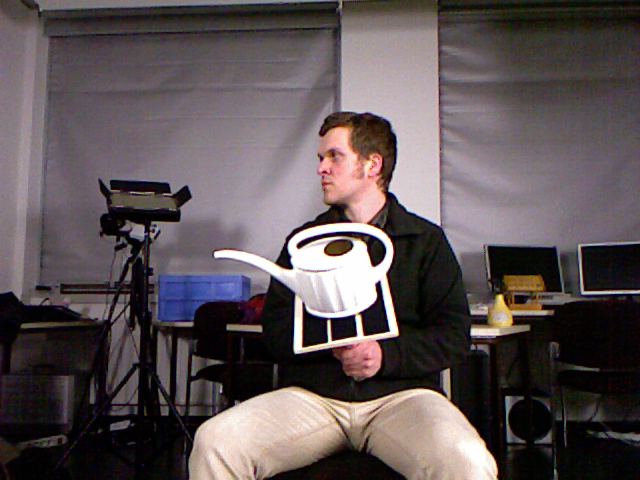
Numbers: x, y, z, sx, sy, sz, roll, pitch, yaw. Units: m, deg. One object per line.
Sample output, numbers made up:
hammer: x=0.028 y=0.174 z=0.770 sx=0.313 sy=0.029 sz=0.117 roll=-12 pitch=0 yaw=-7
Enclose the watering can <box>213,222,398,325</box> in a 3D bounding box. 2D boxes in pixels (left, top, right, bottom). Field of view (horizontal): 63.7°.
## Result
watering can: x=-0.016 y=0.068 z=1.017 sx=0.348 sy=0.220 sz=0.107 roll=-9 pitch=35 yaw=8
